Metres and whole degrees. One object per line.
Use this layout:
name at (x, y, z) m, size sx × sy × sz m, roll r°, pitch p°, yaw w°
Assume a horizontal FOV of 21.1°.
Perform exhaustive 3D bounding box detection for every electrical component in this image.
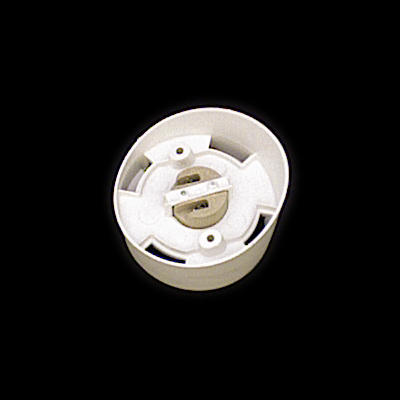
electrical component at (0.000, 0.000, 0.625) m, size 0.099 × 0.099 × 0.064 m, roll 0°, pitch -28°, yaw -1°
